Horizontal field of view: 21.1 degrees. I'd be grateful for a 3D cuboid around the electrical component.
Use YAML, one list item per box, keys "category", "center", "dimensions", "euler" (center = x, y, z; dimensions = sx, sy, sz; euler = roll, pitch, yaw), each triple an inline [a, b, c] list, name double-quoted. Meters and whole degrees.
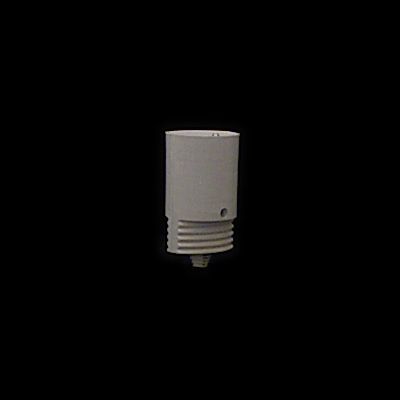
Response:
- category: "electrical component"
  center: [0.000, 0.000, 0.645]
  dimensions: [0.043, 0.082, 0.042]
  euler: [2, 11, 0]
